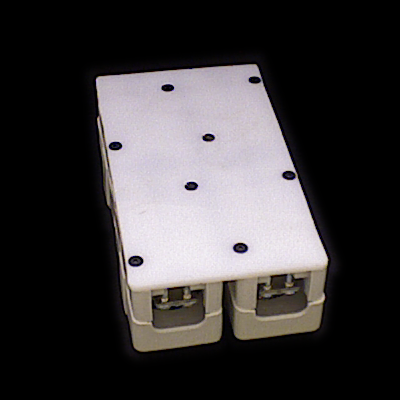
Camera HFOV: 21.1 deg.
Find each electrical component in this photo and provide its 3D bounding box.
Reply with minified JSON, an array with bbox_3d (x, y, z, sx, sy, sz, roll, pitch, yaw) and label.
[{"bbox_3d":[0.000,0.000,0.630,0.105,0.061,0.184,-6,43,-7],"label":"electrical component"}]
